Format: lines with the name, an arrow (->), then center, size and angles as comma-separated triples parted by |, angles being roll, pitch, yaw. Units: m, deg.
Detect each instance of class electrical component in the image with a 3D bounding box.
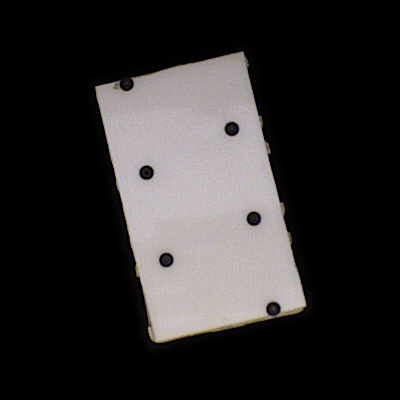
electrical component -> 0.000, 0.000, 0.631 | 0.089, 0.150, 0.061 | -13, -6, -1
